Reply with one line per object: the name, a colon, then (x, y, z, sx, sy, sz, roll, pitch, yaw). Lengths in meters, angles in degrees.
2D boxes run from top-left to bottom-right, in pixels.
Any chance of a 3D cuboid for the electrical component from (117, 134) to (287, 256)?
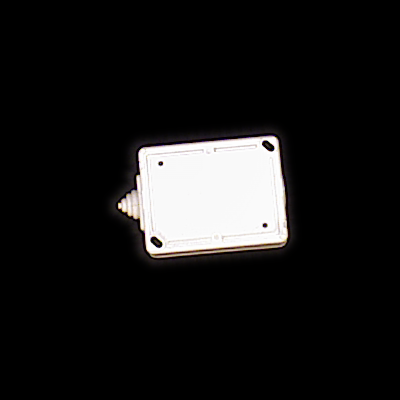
electrical component: (0.000, 0.000, 0.630, 0.096, 0.062, 0.061, -5, -7, 1)
